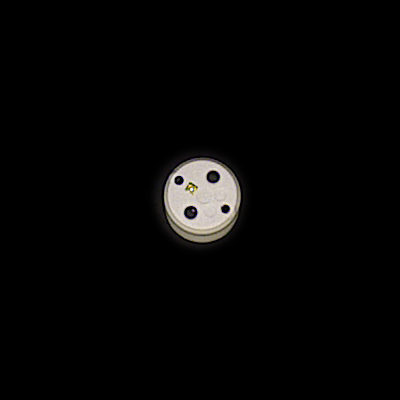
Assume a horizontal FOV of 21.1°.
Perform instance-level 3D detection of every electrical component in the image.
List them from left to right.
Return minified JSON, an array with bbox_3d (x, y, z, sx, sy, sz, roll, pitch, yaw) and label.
[{"bbox_3d":[0.000,0.000,0.629,0.045,0.045,0.055,0,-6,0],"label":"electrical component"}]
